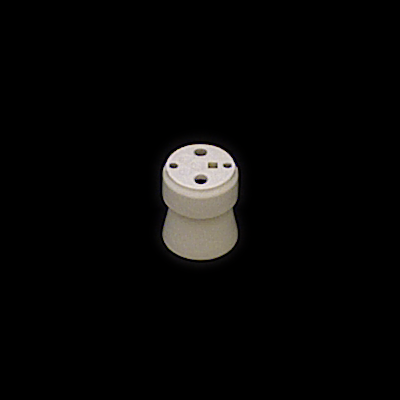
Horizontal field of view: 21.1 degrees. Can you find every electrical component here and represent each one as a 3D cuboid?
[{"bbox_3d":[0.000,0.000,0.631,0.045,0.055,0.044,0,43,0],"label":"electrical component"}]
